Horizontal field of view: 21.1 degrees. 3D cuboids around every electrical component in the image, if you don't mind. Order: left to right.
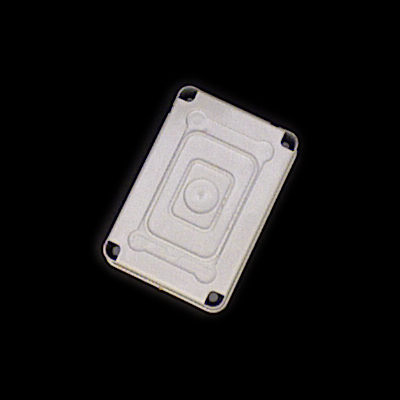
[{"bbox_3d":[0.000,0.000,0.628,0.078,0.113,0.057,25,-5,3],"label":"electrical component"}]
